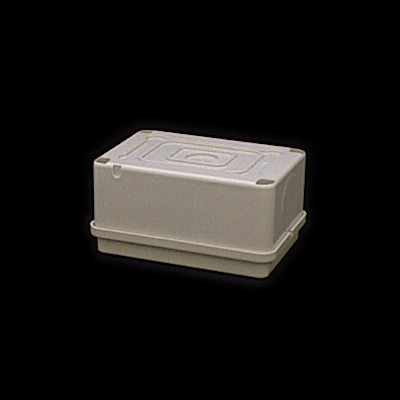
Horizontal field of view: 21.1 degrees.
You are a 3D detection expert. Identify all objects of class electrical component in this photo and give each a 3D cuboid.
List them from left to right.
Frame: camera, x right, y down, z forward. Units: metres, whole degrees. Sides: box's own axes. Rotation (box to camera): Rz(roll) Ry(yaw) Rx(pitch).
[{"bbox_3d":[0.000,0.000,0.639,0.113,0.058,0.077,9,22,18],"label":"electrical component"}]
